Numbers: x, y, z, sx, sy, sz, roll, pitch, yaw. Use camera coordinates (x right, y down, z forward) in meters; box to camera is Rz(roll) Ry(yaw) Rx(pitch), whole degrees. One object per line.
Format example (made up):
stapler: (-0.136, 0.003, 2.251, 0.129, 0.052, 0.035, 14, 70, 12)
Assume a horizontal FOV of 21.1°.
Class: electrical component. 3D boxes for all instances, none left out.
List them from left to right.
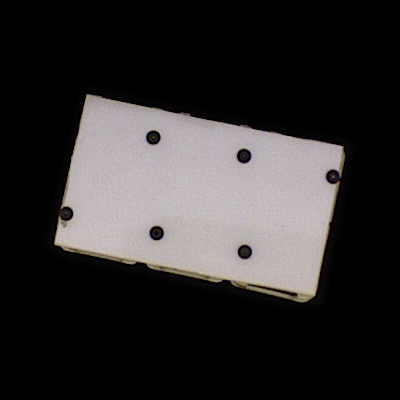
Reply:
electrical component: (0.000, 0.000, 0.631, 0.150, 0.089, 0.061, 12, -6, 1)
